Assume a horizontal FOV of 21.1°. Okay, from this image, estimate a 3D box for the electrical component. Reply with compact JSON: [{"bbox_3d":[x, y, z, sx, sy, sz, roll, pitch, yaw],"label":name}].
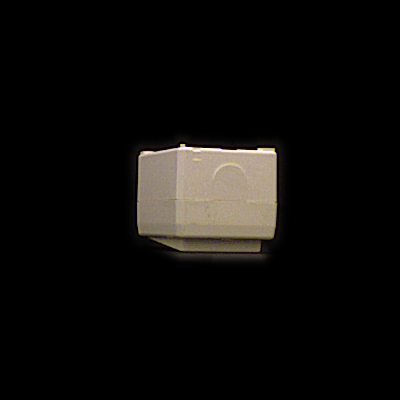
[{"bbox_3d":[0.000,0.000,0.652,0.062,0.061,0.096,1,-1,-21],"label":"electrical component"}]
